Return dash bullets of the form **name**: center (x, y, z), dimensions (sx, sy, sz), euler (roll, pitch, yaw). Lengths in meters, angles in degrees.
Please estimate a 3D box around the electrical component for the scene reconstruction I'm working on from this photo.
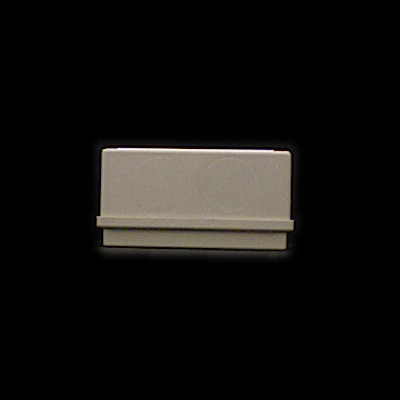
- **electrical component**: center (-0.001, 0.000, 0.649), dimensions (0.113, 0.057, 0.078), euler (1, 0, 5)
